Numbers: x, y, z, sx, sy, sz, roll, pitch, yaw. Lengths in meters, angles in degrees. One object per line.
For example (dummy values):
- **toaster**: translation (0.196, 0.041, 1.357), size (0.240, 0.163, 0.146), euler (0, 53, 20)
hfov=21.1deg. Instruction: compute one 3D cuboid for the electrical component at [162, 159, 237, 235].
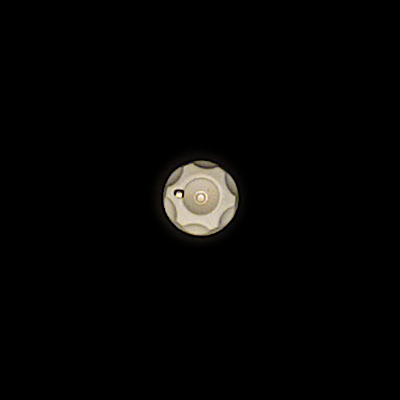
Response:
- **electrical component**: translation (0.000, 0.000, 0.635), size (0.043, 0.043, 0.062), euler (0, -5, 0)
